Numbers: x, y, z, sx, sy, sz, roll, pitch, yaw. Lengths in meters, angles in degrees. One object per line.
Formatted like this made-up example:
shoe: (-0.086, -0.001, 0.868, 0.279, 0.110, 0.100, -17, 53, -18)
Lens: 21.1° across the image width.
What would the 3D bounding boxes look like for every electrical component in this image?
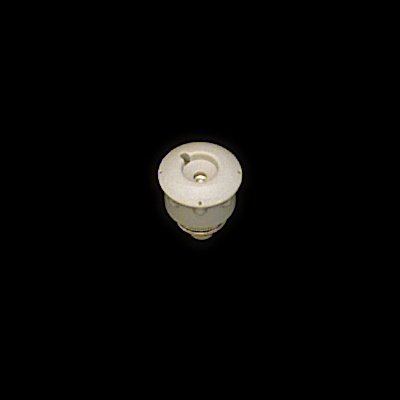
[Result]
electrical component: (0.000, 0.000, 0.634, 0.048, 0.048, 0.062, 0, -37, 0)
